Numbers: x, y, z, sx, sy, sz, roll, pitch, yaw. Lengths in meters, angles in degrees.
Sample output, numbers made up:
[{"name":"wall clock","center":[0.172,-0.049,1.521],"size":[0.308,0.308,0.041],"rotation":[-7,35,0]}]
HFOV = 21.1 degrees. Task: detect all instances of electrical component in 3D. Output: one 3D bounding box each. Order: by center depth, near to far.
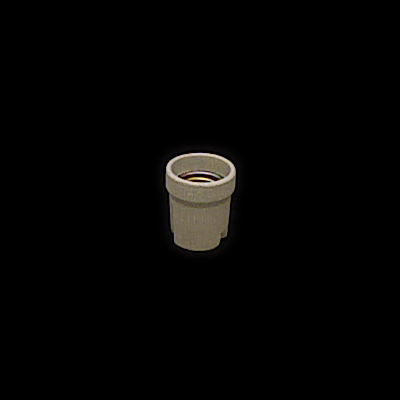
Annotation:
[{"name":"electrical component","center":[0.000,0.000,0.636],"size":[0.040,0.047,0.039],"rotation":[1,32,0]}]
